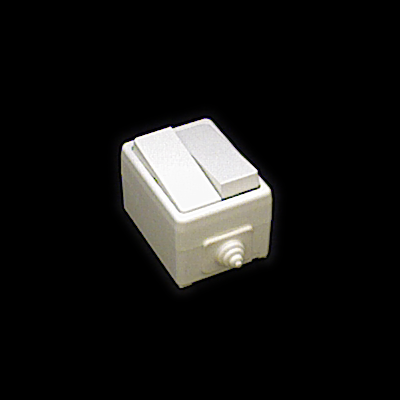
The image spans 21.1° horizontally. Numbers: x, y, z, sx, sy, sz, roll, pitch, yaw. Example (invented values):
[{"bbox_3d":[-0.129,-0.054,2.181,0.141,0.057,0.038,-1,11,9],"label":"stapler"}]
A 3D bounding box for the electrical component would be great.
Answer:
[{"bbox_3d":[0.000,0.000,0.629,0.062,0.061,0.095,-19,45,-20],"label":"electrical component"}]
